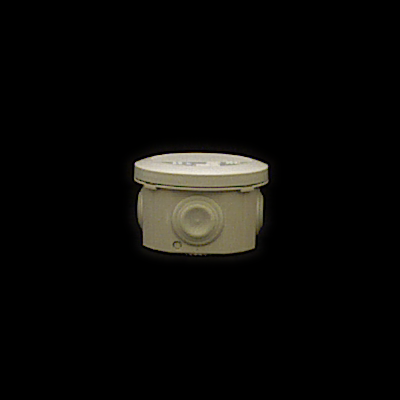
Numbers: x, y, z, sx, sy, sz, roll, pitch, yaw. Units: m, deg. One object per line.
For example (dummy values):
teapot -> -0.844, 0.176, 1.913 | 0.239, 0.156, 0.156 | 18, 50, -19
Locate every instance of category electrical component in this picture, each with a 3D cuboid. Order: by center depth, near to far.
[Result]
electrical component -> 0.000, 0.000, 0.644 | 0.080, 0.051, 0.079 | 1, 10, 0
